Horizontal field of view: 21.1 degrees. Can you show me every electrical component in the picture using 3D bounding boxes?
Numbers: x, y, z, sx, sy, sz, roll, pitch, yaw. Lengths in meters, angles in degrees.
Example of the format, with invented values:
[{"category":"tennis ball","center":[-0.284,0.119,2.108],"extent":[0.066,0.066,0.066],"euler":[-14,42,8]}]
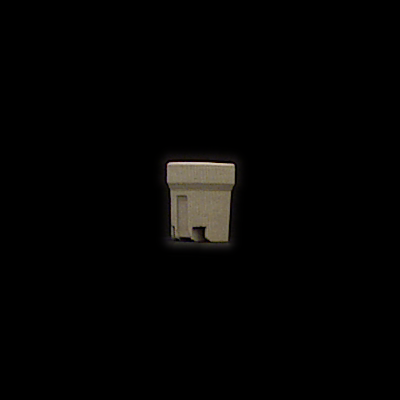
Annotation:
[{"category":"electrical component","center":[0.000,0.000,0.647],"extent":[0.040,0.046,0.040],"euler":[1,1,1]}]
